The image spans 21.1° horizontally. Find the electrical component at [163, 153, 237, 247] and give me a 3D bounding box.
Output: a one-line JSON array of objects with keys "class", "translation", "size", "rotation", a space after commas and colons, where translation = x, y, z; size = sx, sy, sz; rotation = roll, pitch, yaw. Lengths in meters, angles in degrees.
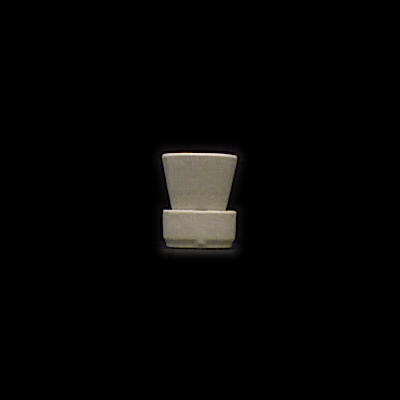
[{"class": "electrical component", "translation": [0.000, 0.000, 0.648], "size": [0.045, 0.055, 0.045], "rotation": [1, 1, 0]}]
